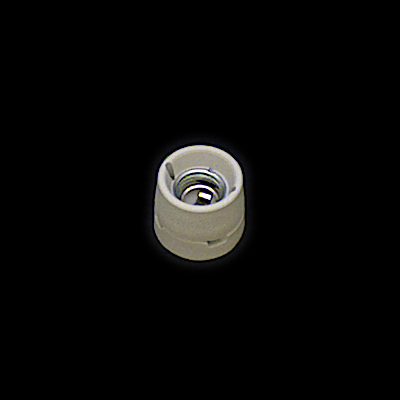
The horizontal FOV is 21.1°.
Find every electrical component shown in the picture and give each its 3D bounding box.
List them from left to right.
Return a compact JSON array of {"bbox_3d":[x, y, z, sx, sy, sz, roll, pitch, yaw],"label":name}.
[{"bbox_3d":[0.000,0.000,0.633,0.055,0.055,0.047,0,-37,-1],"label":"electrical component"}]
